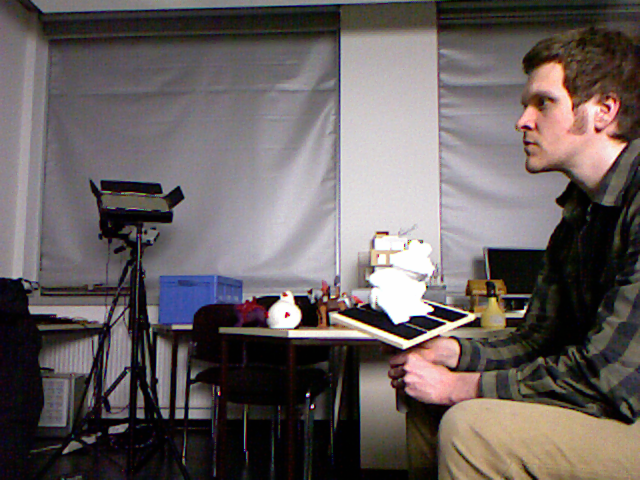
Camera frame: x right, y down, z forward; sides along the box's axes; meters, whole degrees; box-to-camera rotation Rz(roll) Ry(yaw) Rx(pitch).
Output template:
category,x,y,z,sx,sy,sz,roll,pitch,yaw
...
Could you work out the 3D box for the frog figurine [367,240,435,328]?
category,x,y,z,sx,sy,sz,roll,pitch,yaw
frog figurine,0.159,0.075,1.017,0.138,0.158,0.124,-6,14,-19
